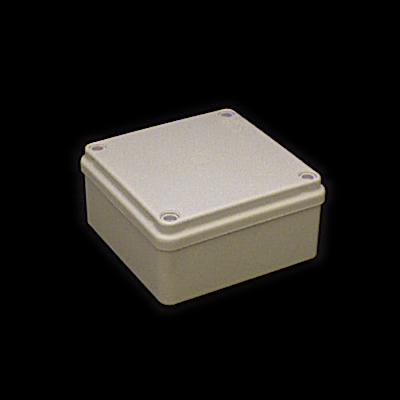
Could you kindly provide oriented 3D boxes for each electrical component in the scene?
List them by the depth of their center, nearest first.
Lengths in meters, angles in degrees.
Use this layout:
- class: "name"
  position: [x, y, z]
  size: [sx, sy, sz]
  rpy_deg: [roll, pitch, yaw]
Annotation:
- class: "electrical component"
  position: [0.000, 0.000, 0.634]
  size: [0.109, 0.057, 0.107]
  rpy_deg: [-17, 36, -26]
